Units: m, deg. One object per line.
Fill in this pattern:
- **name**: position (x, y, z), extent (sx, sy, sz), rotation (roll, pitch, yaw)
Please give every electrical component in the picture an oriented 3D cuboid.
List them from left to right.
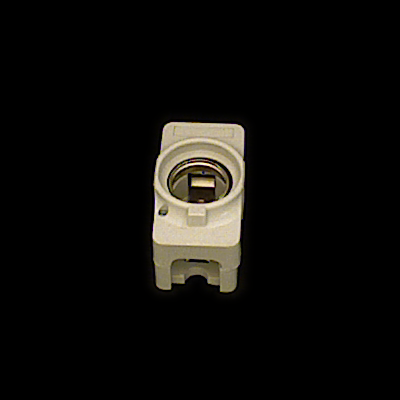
- **electrical component**: position (0.000, 0.000, 0.637), extent (0.050, 0.089, 0.056), rotation (2, -37, 1)
